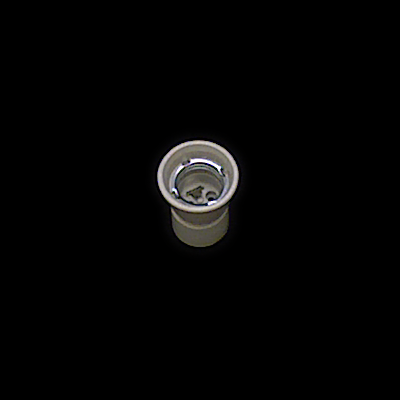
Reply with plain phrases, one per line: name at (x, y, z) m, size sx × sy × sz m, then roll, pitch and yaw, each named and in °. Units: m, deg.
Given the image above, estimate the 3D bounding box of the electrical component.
electrical component at (0.000, 0.000, 0.624) m, size 0.044 × 0.044 × 0.065 m, roll 0°, pitch -26°, yaw 1°
